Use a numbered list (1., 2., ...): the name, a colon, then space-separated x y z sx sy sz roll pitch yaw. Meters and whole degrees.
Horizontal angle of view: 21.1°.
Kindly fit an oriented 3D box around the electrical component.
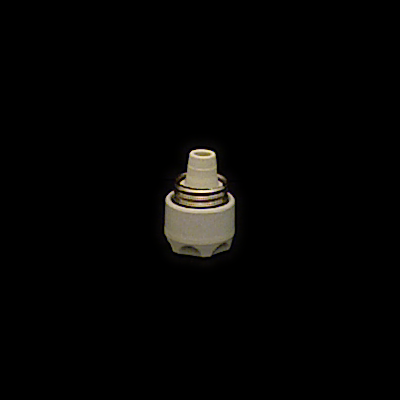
1. electrical component: 0.000 0.000 0.645 0.043 0.063 0.043 2 23 0
